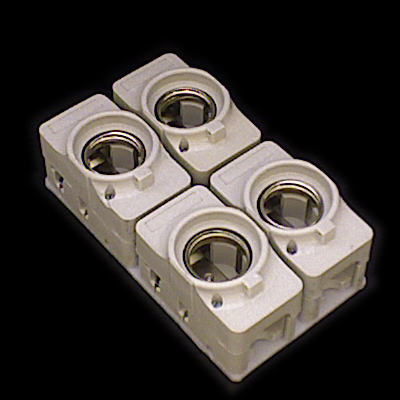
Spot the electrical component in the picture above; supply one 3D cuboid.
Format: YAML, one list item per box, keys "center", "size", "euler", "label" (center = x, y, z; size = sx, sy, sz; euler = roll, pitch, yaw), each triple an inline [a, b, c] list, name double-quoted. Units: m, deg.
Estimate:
- center: [0.000, 0.000, 0.628]
  size: [0.105, 0.185, 0.060]
  euler: [-33, -30, -23]
  label: "electrical component"
